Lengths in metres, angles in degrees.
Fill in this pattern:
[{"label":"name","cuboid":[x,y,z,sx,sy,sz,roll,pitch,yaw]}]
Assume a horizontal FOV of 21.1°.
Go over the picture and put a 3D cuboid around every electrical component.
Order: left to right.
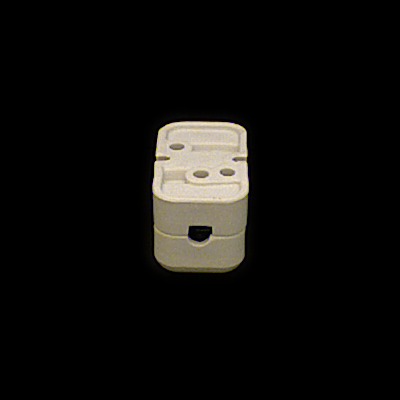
[{"label":"electrical component","cuboid":[0.000,0.000,0.643,0.054,0.060,0.094,1,32,0]}]
